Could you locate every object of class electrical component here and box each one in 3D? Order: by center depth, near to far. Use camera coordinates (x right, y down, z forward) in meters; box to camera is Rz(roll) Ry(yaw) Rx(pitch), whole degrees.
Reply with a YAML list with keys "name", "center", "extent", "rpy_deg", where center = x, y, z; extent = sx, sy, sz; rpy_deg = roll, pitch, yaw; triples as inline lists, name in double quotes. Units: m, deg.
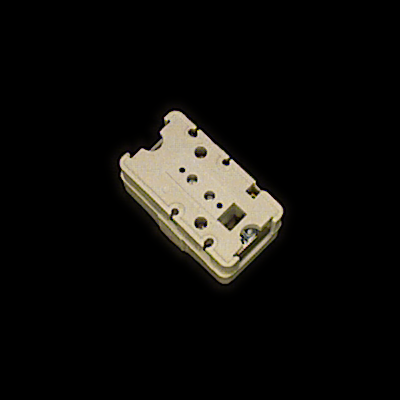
- name: "electrical component"
  center: [0.000, 0.000, 0.636]
  extent: [0.050, 0.089, 0.055]
  rpy_deg: [-44, -11, -12]
